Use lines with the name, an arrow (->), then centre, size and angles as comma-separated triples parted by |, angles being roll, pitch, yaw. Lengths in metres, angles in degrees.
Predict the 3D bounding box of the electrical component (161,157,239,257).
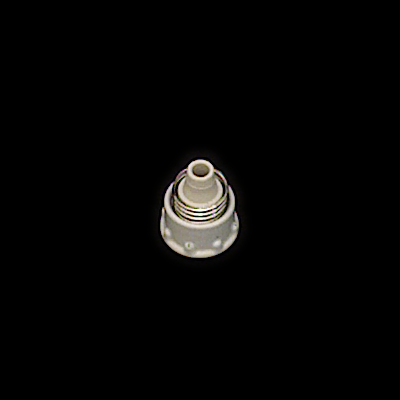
electrical component -> 0.000, 0.000, 0.635 | 0.048, 0.048, 0.062 | 0, -36, -1
